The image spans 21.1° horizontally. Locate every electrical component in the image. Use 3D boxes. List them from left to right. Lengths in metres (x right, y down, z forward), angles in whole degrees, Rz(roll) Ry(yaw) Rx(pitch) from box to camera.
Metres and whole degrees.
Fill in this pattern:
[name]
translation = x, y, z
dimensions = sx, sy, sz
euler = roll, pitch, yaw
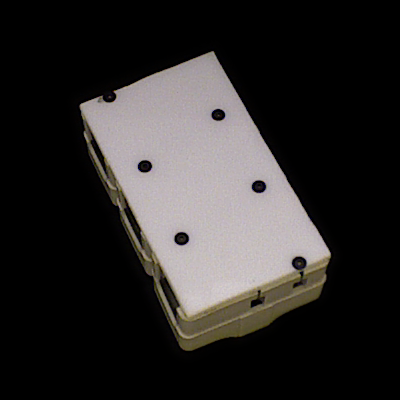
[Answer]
[electrical component]
translation = 0.000, 0.000, 0.630
dimensions = 0.089, 0.149, 0.062
euler = -23, -24, -11
